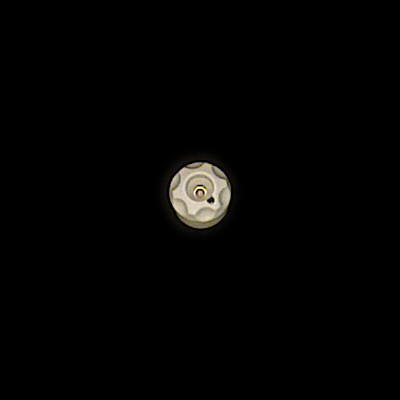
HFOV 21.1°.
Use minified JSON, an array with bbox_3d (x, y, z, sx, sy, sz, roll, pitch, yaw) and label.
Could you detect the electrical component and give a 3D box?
[{"bbox_3d":[0.000,0.000,0.633,0.035,0.035,0.061,0,-15,1],"label":"electrical component"}]
